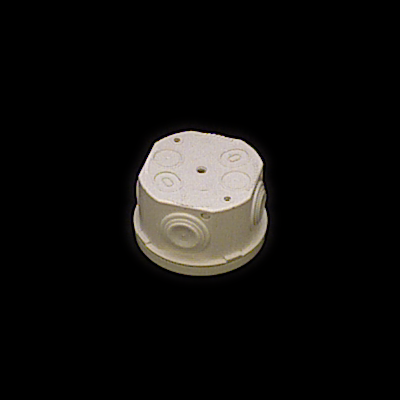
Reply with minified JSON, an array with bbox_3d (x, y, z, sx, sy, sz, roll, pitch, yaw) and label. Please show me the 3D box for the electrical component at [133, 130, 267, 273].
[{"bbox_3d":[0.000,0.000,0.634,0.080,0.051,0.080,1,43,-1],"label":"electrical component"}]
